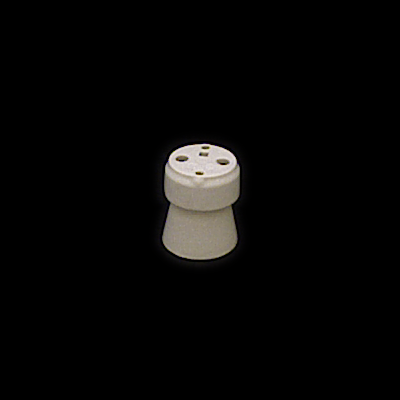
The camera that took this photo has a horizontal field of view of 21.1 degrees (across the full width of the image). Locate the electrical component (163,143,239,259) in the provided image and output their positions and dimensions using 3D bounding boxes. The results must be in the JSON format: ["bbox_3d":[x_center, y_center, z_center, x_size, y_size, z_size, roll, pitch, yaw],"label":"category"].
[{"bbox_3d":[0.000,0.000,0.635,0.045,0.056,0.044,1,32,0],"label":"electrical component"}]
